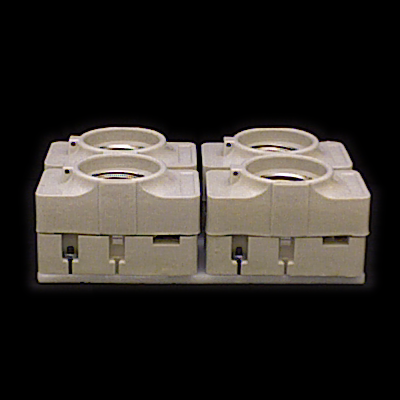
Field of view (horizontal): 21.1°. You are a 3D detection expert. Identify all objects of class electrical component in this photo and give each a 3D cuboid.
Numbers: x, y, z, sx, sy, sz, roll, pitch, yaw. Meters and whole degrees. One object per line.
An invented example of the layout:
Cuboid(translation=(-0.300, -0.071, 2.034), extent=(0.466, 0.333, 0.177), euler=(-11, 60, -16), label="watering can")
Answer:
Cuboid(translation=(0.000, 0.000, 0.637), extent=(0.186, 0.061, 0.104), euler=(0, 21, -2), label="electrical component")
